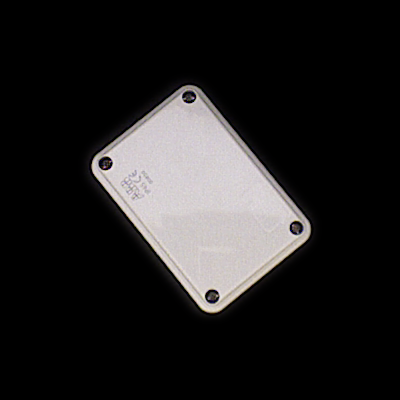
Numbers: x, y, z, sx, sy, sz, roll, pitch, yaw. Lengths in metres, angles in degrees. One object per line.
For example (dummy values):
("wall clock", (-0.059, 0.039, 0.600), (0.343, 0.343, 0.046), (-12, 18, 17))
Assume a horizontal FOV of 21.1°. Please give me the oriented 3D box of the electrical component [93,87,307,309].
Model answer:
("electrical component", (0.000, 0.000, 0.627), (0.078, 0.113, 0.057), (-39, -5, -4))
